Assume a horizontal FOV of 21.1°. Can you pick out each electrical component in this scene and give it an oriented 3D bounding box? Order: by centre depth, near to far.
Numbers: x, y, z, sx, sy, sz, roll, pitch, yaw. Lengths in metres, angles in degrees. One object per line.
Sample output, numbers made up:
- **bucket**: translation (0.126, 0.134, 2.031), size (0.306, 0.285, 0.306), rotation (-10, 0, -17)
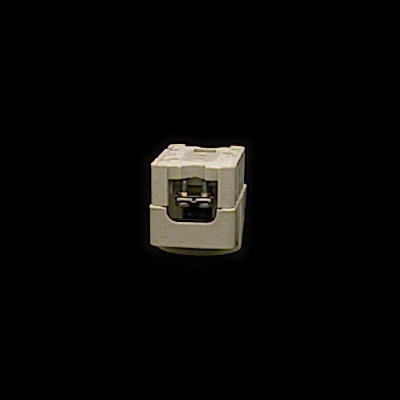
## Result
- **electrical component**: translation (0.000, 0.000, 0.651), size (0.050, 0.056, 0.089), rotation (2, 11, 6)
